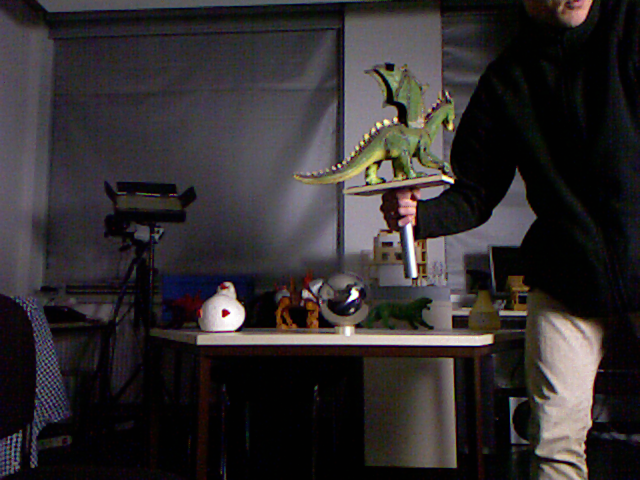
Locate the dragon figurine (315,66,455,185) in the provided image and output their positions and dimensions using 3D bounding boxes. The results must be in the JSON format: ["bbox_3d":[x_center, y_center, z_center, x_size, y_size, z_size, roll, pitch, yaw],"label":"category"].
[{"bbox_3d":[0.158,-0.248,1.104,0.413,0.242,0.122,-8,6,-35],"label":"dragon figurine"}]
